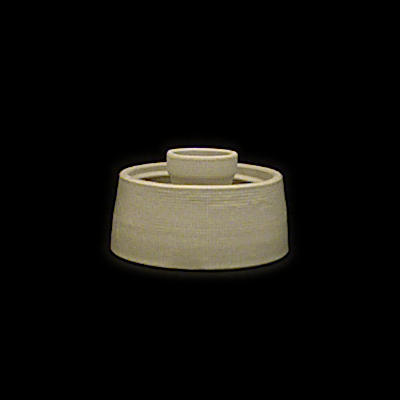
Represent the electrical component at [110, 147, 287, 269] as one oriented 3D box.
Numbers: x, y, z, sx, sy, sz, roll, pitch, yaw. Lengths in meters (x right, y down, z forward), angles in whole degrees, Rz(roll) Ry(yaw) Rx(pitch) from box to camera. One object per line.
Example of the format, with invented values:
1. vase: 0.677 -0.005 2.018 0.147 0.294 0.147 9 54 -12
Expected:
1. electrical component: 0.000 0.000 0.649 0.108 0.061 0.107 1 11 0
